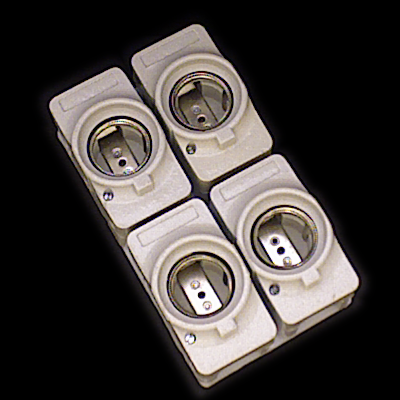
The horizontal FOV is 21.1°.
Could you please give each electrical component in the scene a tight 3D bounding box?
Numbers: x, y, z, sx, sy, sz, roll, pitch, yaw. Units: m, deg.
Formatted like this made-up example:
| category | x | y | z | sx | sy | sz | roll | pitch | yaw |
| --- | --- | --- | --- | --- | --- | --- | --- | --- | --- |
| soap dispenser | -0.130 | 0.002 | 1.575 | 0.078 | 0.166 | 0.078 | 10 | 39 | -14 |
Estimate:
| category | x | y | z | sx | sy | sz | roll | pitch | yaw |
| --- | --- | --- | --- | --- | --- | --- | --- | --- | --- |
| electrical component | 0.000 | 0.000 | 0.625 | 0.106 | 0.186 | 0.060 | -29 | -15 | -8 |
